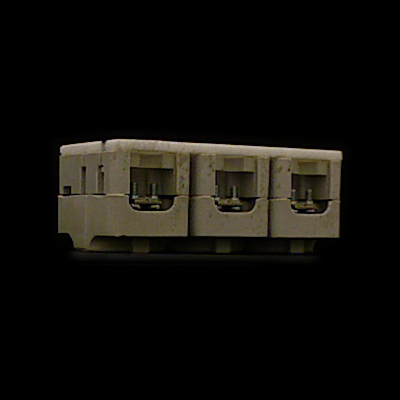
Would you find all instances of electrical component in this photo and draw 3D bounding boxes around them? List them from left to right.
[{"bbox_3d":[0.000,0.000,0.653,0.150,0.062,0.089,1,-1,-28],"label":"electrical component"}]
